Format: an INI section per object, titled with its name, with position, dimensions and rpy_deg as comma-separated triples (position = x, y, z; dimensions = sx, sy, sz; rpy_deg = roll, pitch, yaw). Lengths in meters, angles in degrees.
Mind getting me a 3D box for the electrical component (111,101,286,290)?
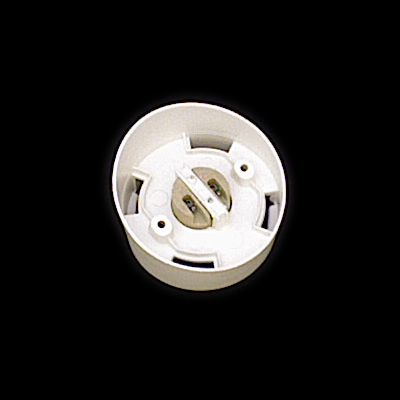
[electrical component]
position = 0.000, 0.000, 0.624
dimensions = 0.099, 0.099, 0.064
rpy_deg = 0, -28, 1
